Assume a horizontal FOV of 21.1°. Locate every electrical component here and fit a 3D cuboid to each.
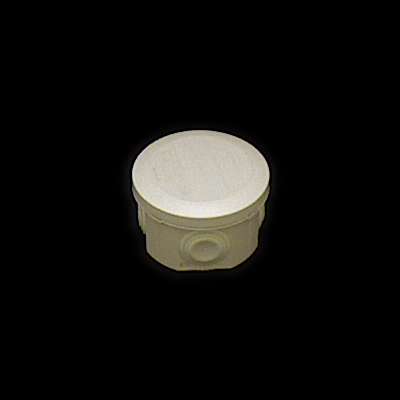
[{"bbox_3d":[0.000,0.000,0.635,0.080,0.051,0.079,1,41,0],"label":"electrical component"}]
